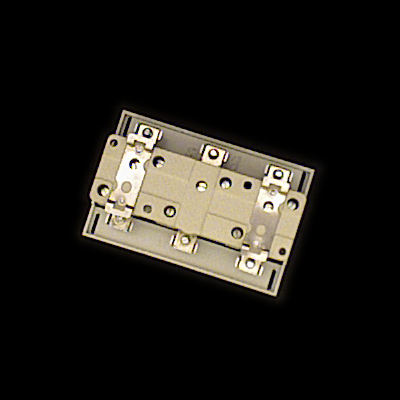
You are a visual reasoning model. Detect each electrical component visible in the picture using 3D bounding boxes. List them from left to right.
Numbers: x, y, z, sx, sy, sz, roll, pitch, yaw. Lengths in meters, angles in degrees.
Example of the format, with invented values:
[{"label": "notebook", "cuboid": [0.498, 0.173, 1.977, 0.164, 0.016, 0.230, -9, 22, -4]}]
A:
[{"label": "electrical component", "cuboid": [0.000, 0.000, 0.634, 0.121, 0.079, 0.063, 17, -5, 2]}]
